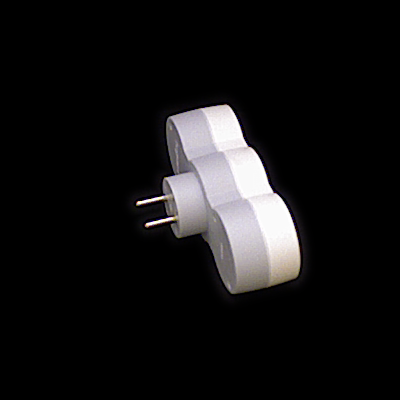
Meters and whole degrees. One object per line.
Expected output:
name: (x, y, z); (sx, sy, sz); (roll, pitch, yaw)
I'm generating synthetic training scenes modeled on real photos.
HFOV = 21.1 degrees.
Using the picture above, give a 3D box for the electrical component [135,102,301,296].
electrical component: (0.000, 0.000, 0.631); (0.074, 0.052, 0.137); (-13, 45, -12)
